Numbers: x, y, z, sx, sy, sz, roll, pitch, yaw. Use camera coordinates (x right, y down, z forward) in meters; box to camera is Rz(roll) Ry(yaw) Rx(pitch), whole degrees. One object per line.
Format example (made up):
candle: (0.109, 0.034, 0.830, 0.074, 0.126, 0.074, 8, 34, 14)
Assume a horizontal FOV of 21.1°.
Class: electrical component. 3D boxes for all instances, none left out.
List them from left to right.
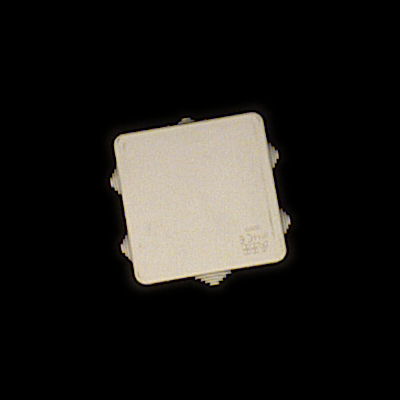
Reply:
electrical component: (0.000, 0.000, 0.642, 0.100, 0.100, 0.048, -9, -6, -1)
